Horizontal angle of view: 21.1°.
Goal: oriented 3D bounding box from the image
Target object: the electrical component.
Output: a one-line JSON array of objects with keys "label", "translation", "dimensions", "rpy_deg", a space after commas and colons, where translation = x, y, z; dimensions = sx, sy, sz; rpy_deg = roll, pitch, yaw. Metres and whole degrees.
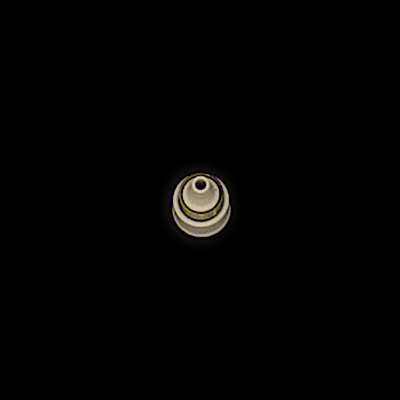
[{"label": "electrical component", "translation": [0.000, 0.000, 0.637], "dimensions": [0.035, 0.035, 0.061], "rpy_deg": [0, -17, 0]}]
